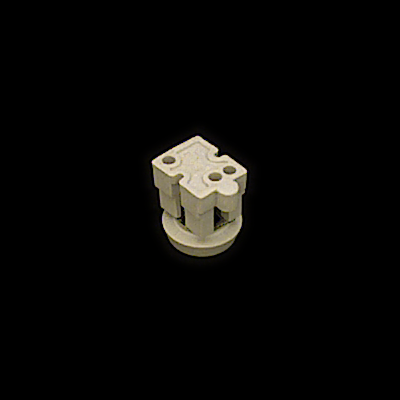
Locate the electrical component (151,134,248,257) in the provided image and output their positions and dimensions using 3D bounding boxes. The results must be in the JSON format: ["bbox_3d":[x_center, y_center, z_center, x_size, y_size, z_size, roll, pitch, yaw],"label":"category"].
[{"bbox_3d":[0.000,0.000,0.640,0.048,0.056,0.065,-31,50,-28],"label":"electrical component"}]
